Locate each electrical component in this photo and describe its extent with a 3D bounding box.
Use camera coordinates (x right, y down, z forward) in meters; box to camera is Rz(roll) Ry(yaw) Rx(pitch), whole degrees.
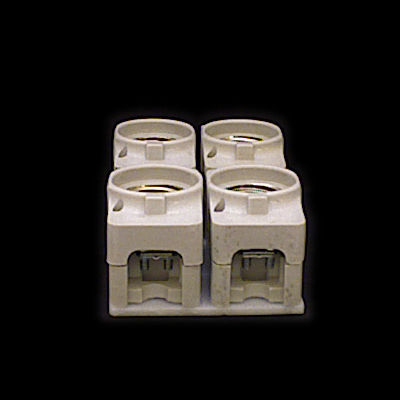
[{"bbox_3d":[0.000,0.000,0.638,0.105,0.061,0.184,0,21,-3],"label":"electrical component"}]
